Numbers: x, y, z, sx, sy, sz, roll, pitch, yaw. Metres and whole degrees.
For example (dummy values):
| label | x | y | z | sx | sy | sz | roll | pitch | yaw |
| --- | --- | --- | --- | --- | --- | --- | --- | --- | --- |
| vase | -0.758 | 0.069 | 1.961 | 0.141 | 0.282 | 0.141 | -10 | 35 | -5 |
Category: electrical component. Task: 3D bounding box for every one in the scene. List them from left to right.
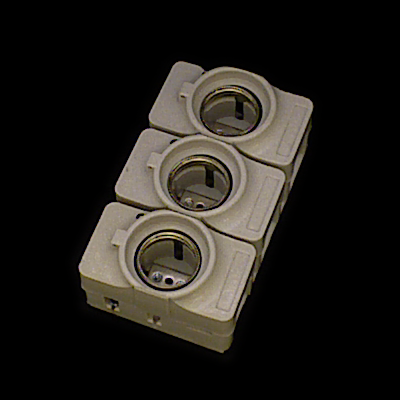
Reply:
| label | x | y | z | sx | sy | sz | roll | pitch | yaw |
| --- | --- | --- | --- | --- | --- | --- | --- | --- | --- |
| electrical component | 0.000 | 0.000 | 0.631 | 0.089 | 0.149 | 0.062 | 18 | -26 | 10 |
